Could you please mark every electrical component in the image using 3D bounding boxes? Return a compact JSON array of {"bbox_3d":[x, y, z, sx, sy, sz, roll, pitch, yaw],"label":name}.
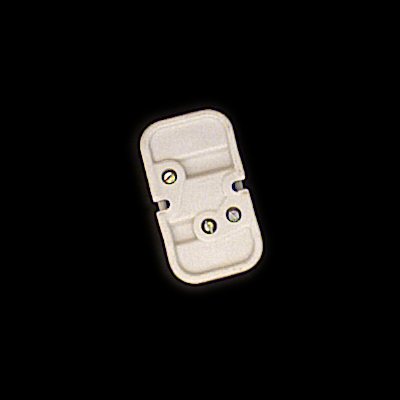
[{"bbox_3d":[0.000,0.000,0.637,0.054,0.095,0.059,-15,-7,-1],"label":"electrical component"}]
